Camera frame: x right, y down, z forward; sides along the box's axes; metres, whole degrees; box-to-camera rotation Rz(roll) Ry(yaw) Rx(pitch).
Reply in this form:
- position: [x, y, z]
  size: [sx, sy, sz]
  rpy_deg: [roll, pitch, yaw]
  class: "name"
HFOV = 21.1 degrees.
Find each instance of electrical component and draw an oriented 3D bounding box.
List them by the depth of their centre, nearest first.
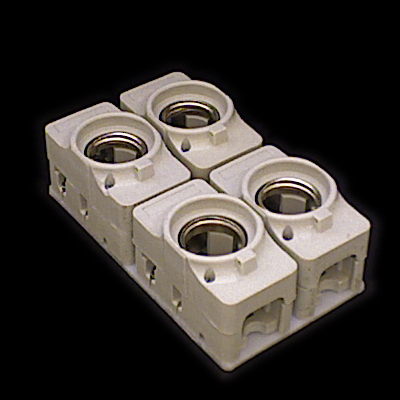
- position: [0.000, 0.000, 0.630]
  size: [0.105, 0.061, 0.185]
  rpy_deg: [-27, 49, -27]
  class: "electrical component"
